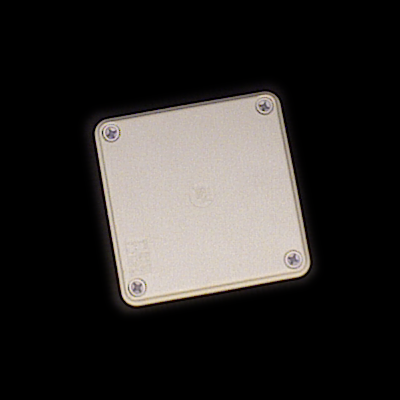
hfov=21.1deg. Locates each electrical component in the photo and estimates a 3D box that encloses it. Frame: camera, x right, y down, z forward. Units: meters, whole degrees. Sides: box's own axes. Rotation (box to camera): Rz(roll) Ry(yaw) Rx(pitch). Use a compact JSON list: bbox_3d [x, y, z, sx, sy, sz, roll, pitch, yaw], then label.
[{"bbox_3d":[0.000,0.000,0.631,0.109,0.109,0.056,-10,-7,-1],"label":"electrical component"}]
